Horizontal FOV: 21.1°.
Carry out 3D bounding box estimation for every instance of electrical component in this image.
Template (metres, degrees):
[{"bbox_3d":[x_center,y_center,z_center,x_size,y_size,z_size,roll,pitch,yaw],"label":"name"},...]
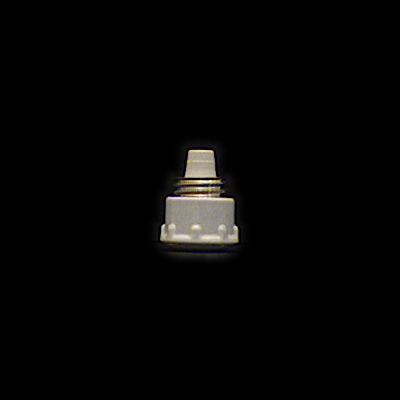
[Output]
[{"bbox_3d":[0.000,0.000,0.658,0.048,0.062,0.048,2,1,1],"label":"electrical component"}]
